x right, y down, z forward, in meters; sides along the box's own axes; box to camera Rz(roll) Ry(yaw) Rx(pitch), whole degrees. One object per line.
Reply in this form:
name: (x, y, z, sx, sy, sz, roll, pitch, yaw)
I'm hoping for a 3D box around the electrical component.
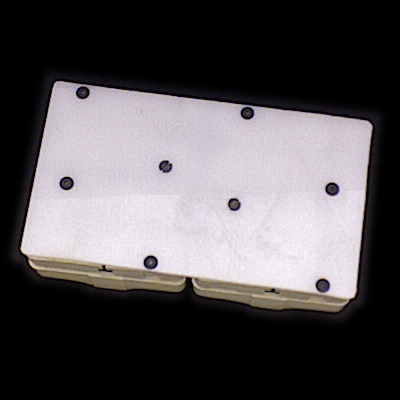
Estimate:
electrical component: (0.000, 0.000, 0.625, 0.186, 0.106, 0.060, 7, -17, 2)
